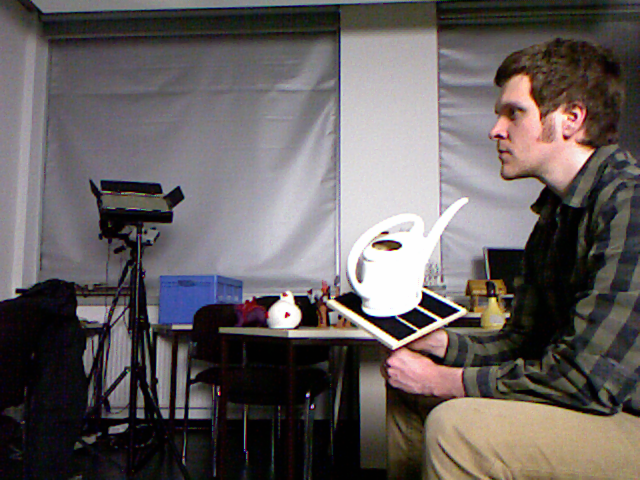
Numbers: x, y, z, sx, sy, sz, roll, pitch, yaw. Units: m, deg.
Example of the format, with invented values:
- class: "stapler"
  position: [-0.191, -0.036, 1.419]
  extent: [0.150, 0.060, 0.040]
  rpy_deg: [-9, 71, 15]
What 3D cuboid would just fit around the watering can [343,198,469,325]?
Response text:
- class: "watering can"
  position: [0.184, 0.041, 1.052]
  extent: [0.351, 0.220, 0.105]
  rpy_deg: [-19, 33, -33]
